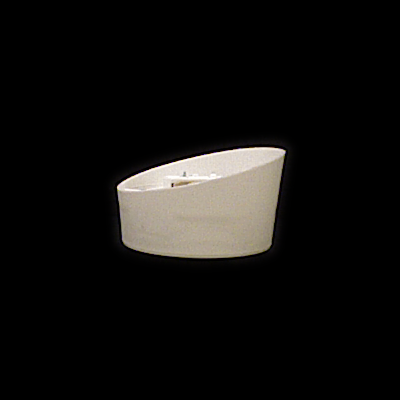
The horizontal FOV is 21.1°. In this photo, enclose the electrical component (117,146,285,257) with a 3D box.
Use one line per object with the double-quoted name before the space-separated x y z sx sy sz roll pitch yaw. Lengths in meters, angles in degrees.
"electrical component" 0.000 0.000 0.644 0.099 0.064 0.098 2 10 0
